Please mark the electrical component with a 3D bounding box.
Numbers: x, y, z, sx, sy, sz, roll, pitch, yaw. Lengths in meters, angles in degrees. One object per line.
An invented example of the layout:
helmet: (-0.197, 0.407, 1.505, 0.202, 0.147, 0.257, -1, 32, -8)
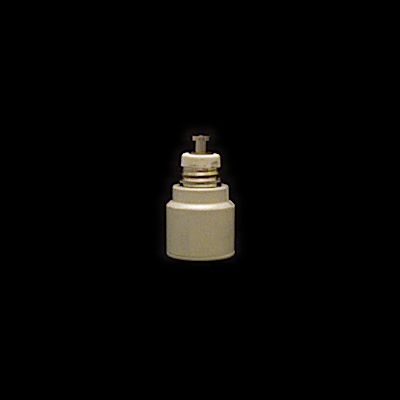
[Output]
electrical component: (0.000, 0.000, 0.642, 0.040, 0.079, 0.040, 0, 11, 0)
